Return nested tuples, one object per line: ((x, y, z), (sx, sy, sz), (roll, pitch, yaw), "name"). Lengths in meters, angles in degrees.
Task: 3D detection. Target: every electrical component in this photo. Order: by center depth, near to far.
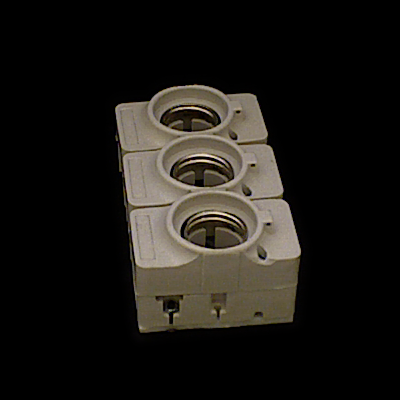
((0.000, 0.000, 0.637), (0.089, 0.063, 0.147), (-4, 43, -7), "electrical component")
